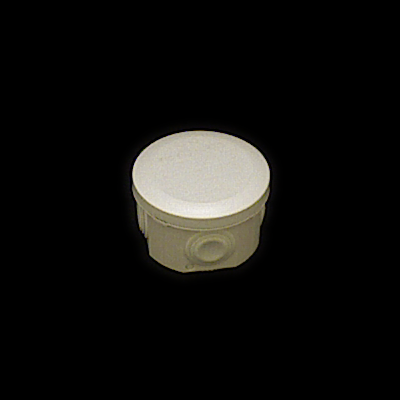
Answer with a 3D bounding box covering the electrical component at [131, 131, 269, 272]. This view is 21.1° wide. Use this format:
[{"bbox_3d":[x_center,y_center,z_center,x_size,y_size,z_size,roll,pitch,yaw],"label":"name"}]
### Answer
[{"bbox_3d":[0.000,0.000,0.634,0.080,0.051,0.079,1,42,0],"label":"electrical component"}]
